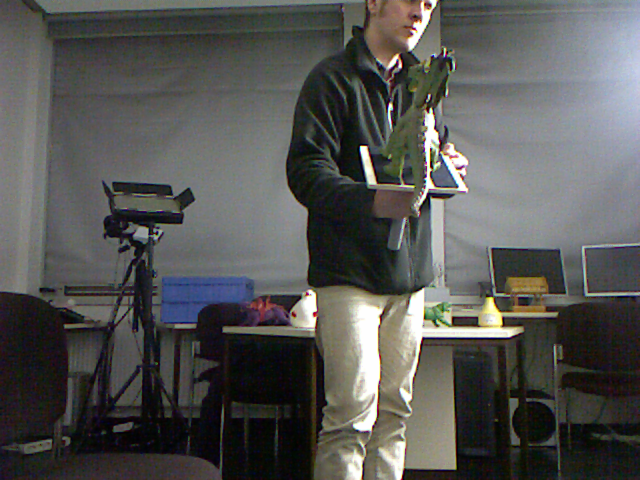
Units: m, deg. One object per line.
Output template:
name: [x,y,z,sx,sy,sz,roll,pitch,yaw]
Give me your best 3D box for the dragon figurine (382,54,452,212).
dragon figurine: [0.212,-0.255,1.046,0.122,0.237,0.421,7,36,-4]
